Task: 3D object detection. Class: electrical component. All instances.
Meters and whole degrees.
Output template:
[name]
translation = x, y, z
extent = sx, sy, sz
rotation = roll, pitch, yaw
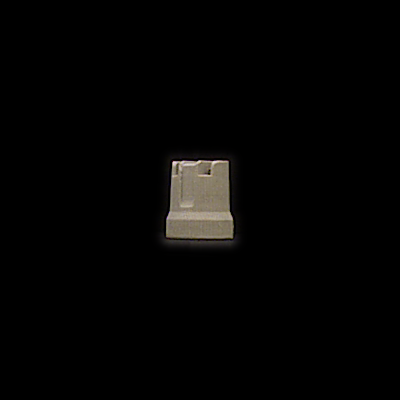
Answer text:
[electrical component]
translation = 0.000, 0.000, 0.649
extent = 0.040, 0.046, 0.040
rotation = 1, 1, 0
